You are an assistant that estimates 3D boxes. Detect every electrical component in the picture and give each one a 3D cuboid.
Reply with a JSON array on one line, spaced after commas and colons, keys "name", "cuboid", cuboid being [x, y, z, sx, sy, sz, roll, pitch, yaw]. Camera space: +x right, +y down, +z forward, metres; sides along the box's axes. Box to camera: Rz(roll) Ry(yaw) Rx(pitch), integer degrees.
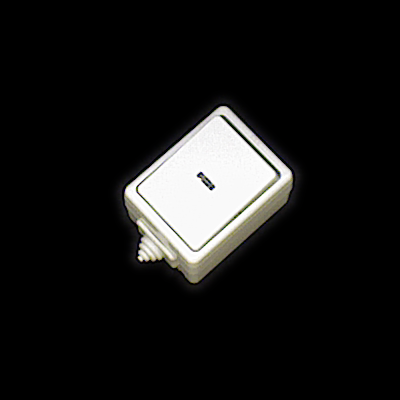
[{"name": "electrical component", "cuboid": [0.000, 0.000, 0.625, 0.096, 0.062, 0.060, -42, -13, -11]}]
